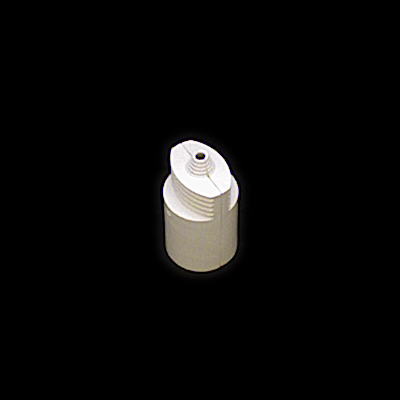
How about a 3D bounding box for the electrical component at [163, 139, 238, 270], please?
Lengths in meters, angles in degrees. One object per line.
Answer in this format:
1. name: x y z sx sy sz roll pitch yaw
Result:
1. electrical component: 0.000 0.000 0.620 0.043 0.043 0.081 0 -38 0
